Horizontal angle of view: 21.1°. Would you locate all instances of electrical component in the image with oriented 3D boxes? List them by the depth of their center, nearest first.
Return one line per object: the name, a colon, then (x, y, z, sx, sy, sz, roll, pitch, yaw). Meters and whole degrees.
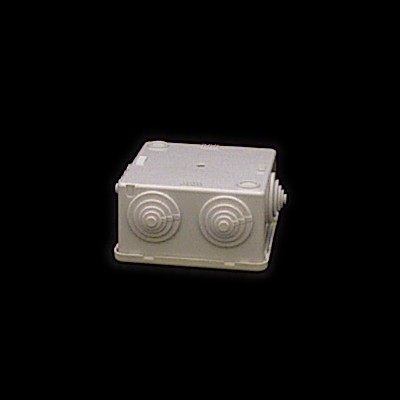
electrical component: (0.000, 0.000, 0.640, 0.099, 0.049, 0.099, 4, 21, 7)
